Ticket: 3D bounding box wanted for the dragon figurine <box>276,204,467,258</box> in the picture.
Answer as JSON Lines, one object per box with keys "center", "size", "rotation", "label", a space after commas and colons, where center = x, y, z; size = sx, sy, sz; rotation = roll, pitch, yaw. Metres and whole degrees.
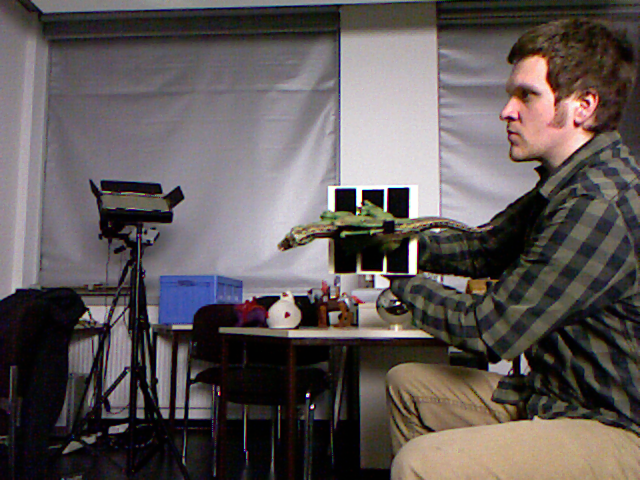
{"center": [0.116, -0.017, 1.056], "size": [0.411, 0.122, 0.244], "rotation": [-7, 3, 3], "label": "dragon figurine"}
